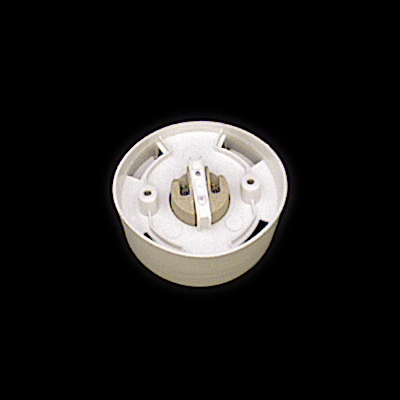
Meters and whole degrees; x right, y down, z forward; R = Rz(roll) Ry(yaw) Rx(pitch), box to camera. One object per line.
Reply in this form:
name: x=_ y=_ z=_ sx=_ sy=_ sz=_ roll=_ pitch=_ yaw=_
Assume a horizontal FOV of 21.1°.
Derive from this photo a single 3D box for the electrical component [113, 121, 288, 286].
electrical component: x=0.000 y=0.000 z=0.624 sx=0.099 sy=0.099 sz=0.064 roll=0 pitch=-27 yaw=-1
